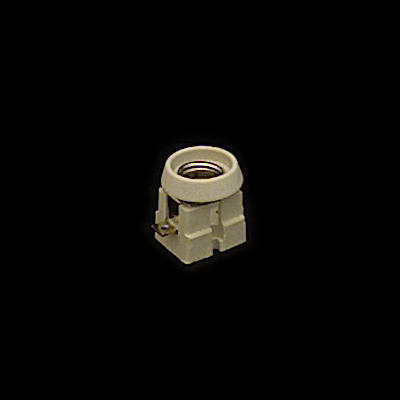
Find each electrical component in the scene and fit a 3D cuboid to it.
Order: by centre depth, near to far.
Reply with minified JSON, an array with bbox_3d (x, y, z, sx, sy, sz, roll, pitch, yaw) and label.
[{"bbox_3d":[0.000,0.000,0.641,0.067,0.056,0.047,-21,36,-31],"label":"electrical component"}]
